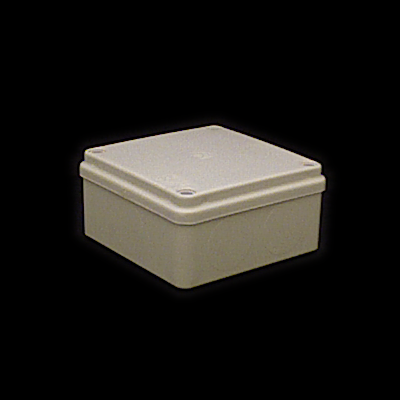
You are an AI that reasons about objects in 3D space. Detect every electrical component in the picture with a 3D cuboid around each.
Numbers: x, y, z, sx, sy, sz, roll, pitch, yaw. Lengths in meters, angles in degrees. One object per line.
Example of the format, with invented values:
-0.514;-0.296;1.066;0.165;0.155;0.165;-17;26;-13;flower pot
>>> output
0.000;0.000;0.641;0.108;0.057;0.107;-14;25;-36;electrical component
